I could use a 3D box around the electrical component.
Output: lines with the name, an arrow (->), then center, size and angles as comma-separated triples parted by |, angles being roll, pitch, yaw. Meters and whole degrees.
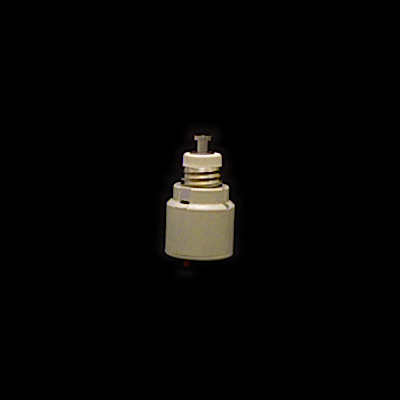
electrical component -> 0.000, 0.000, 0.643 | 0.040, 0.079, 0.040 | 2, 11, 0
